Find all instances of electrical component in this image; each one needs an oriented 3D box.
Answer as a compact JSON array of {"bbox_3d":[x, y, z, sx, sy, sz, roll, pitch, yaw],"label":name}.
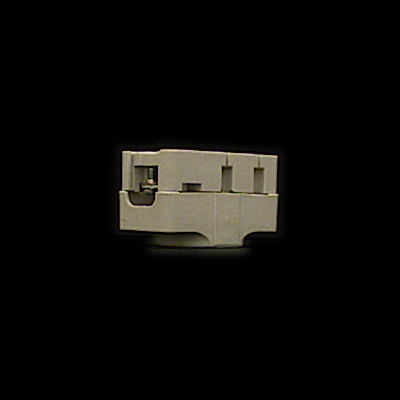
[{"bbox_3d":[0.000,0.000,0.657,0.090,0.056,0.049,1,1,-41],"label":"electrical component"}]
